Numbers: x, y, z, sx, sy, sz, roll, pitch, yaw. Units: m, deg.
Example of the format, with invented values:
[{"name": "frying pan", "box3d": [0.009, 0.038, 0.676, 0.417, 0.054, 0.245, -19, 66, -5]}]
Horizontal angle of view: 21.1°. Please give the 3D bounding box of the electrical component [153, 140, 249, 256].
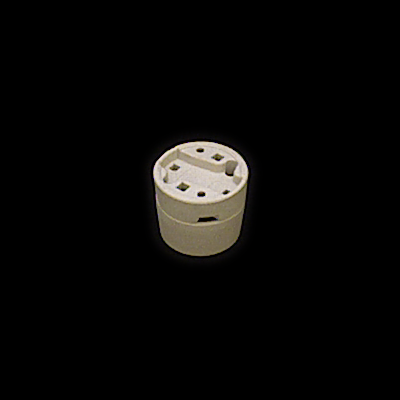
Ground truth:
[{"name": "electrical component", "box3d": [0.000, 0.000, 0.636, 0.055, 0.047, 0.055, 1, 42, -1]}]
